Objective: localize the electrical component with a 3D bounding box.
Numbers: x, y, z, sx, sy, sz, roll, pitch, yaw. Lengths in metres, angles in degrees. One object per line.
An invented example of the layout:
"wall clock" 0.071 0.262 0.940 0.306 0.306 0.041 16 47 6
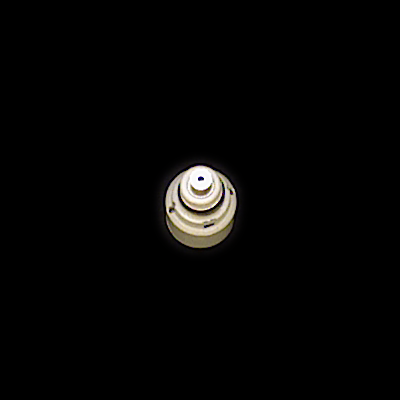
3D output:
"electrical component" 0.000 0.000 0.617 0.040 0.040 0.078 0 -17 0
